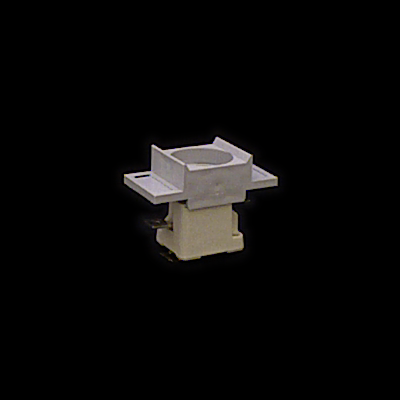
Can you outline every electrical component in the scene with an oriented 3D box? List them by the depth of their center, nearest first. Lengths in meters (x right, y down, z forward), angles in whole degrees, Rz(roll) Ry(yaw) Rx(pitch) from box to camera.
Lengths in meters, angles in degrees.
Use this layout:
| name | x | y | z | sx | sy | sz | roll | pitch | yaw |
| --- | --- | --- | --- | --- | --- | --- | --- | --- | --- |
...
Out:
| name | x | y | z | sx | sy | sz | roll | pitch | yaw |
| --- | --- | --- | --- | --- | --- | --- | --- | --- | --- |
| electrical component | 0.000 | 0.000 | 0.636 | 0.081 | 0.064 | 0.041 | -9 | 24 | -27 |
